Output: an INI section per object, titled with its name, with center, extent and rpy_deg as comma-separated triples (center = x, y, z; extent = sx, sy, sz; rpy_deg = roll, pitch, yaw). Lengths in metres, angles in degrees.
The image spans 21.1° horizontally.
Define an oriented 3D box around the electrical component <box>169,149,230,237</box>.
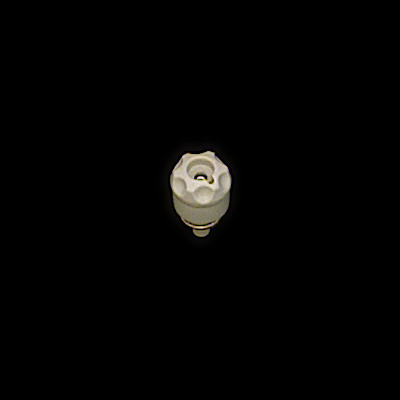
[electrical component]
center = 0.000, 0.000, 0.633
extent = 0.035, 0.035, 0.061
rpy_deg = 0, -37, 0
